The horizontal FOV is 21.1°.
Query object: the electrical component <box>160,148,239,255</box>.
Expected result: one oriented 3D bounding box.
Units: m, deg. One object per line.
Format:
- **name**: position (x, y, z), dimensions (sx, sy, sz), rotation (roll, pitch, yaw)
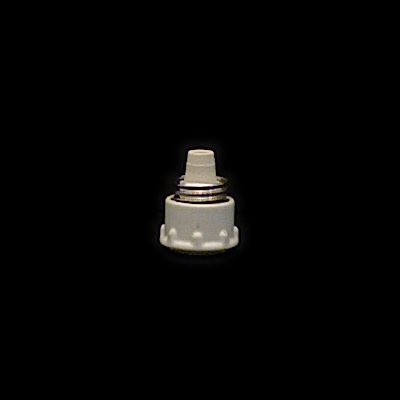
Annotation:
- **electrical component**: position (0.000, 0.000, 0.649), dimensions (0.048, 0.062, 0.047), rotation (1, 13, 0)
